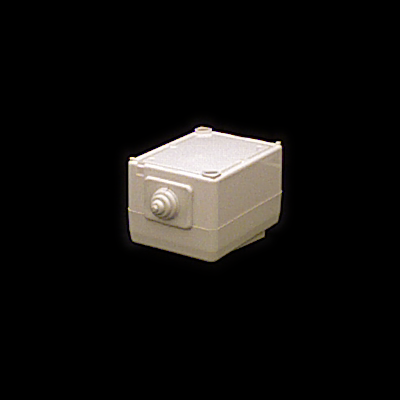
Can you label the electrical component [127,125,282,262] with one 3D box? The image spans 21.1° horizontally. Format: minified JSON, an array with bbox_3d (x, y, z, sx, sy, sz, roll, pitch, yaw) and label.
[{"bbox_3d":[0.000,0.000,0.639,0.061,0.061,0.096,14,25,30],"label":"electrical component"}]
